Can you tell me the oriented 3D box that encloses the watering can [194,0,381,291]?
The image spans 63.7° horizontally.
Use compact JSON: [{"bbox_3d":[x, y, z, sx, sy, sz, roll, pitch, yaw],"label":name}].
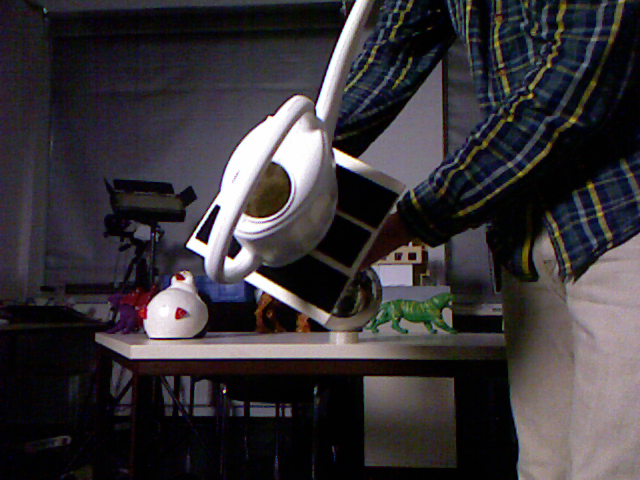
[{"bbox_3d":[-0.017,-0.091,0.567,0.105,0.351,0.222,30,-8,14],"label":"watering can"}]
